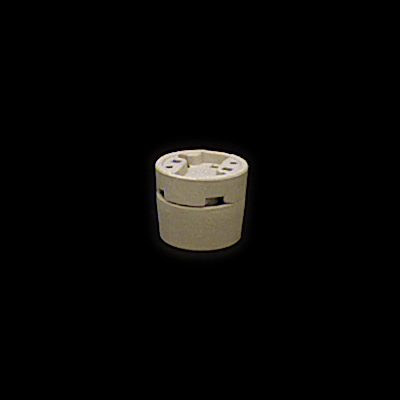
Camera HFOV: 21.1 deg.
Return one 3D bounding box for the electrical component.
[{"bbox_3d":[0.000,0.000,0.643,0.055,0.047,0.055,1,22,0],"label":"electrical component"}]
